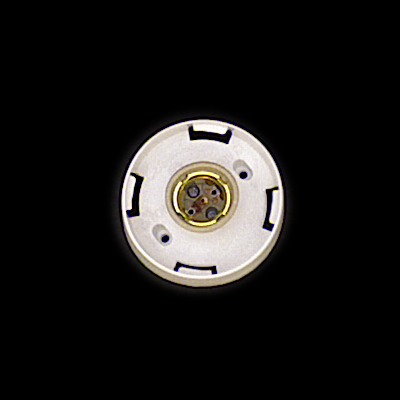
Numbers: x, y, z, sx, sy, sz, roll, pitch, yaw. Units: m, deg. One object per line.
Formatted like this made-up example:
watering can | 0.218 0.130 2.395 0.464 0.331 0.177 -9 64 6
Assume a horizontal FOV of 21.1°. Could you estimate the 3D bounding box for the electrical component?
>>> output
electrical component | 0.000 0.000 0.625 0.099 0.099 0.064 0 -7 1
